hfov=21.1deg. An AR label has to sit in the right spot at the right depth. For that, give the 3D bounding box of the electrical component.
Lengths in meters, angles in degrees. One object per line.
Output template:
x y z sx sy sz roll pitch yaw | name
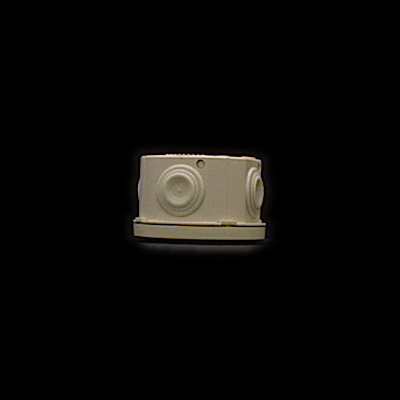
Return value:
0.000 0.000 0.649 0.080 0.051 0.080 2 1 0 | electrical component
